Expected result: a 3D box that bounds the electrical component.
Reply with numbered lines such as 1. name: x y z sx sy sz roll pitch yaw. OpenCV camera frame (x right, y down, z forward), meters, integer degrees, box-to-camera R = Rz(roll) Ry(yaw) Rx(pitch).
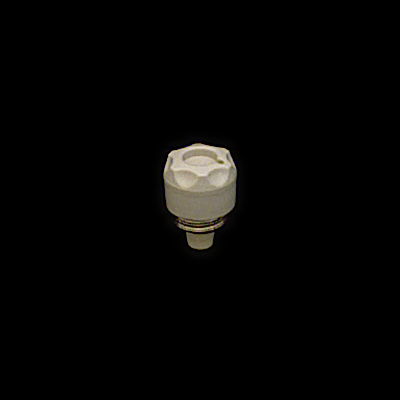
1. electrical component: 0.000 0.000 0.641 0.043 0.063 0.043 0 32 1
